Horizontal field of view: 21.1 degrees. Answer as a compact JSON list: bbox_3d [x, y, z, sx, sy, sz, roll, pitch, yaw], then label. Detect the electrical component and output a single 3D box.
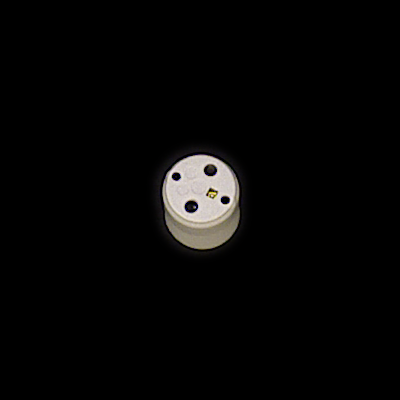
[{"bbox_3d":[0.000,0.000,0.628,0.045,0.045,0.055,0,-16,1],"label":"electrical component"}]
